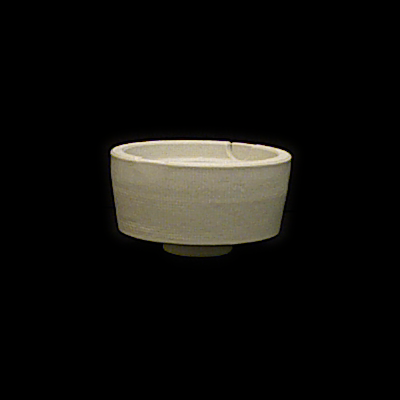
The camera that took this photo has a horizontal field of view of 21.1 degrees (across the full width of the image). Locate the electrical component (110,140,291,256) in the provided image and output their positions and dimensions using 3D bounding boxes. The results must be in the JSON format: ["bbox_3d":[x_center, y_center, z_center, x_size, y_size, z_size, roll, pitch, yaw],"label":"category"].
[{"bbox_3d":[0.000,0.000,0.646,0.108,0.061,0.107,2,11,0],"label":"electrical component"}]
